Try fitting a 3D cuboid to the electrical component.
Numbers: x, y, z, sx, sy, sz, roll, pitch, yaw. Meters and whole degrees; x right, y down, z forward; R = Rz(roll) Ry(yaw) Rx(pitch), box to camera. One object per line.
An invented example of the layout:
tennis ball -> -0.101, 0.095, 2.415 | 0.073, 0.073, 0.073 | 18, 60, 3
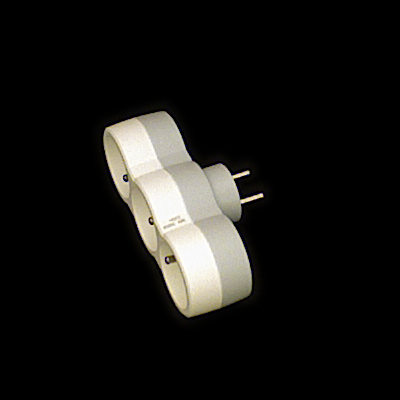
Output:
electrical component -> 0.000, 0.000, 0.639 | 0.074, 0.137, 0.052 | -19, -35, -16
